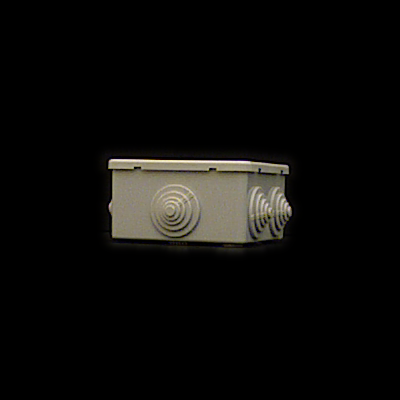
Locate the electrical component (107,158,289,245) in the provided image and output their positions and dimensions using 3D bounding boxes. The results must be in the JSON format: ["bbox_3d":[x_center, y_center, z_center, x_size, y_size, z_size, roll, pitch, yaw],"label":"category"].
[{"bbox_3d":[0.000,0.000,0.656,0.099,0.048,0.100,2,1,20],"label":"electrical component"}]
